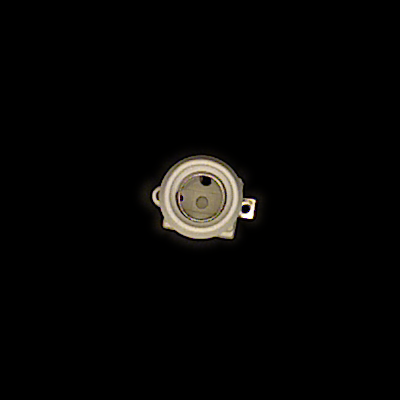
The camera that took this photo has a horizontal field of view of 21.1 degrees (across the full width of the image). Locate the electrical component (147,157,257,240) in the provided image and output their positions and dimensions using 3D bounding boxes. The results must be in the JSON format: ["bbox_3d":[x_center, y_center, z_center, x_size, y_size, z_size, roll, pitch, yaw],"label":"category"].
[{"bbox_3d":[0.000,0.000,0.639,0.066,0.048,0.055,8,-4,2],"label":"electrical component"}]
